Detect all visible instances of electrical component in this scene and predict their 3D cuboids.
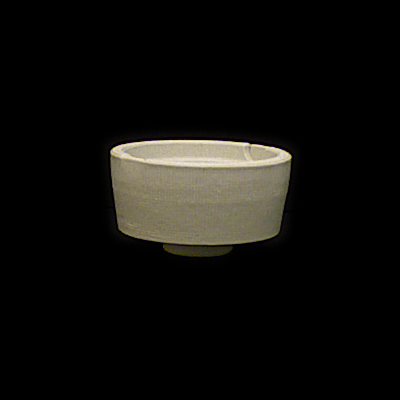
[{"bbox_3d":[0.000,0.000,0.647,0.108,0.061,0.107,2,11,0],"label":"electrical component"}]
